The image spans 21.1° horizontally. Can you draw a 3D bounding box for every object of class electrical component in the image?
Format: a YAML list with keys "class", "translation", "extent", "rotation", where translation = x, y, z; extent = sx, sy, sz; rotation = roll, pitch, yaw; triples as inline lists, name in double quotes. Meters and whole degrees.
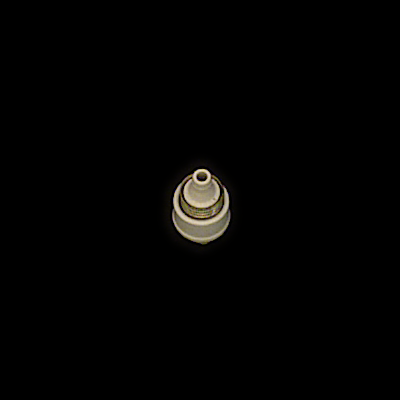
- class: "electrical component"
  translation: [0.000, 0.000, 0.638]
  extent: [0.035, 0.035, 0.061]
  rotation: [0, -27, -1]
